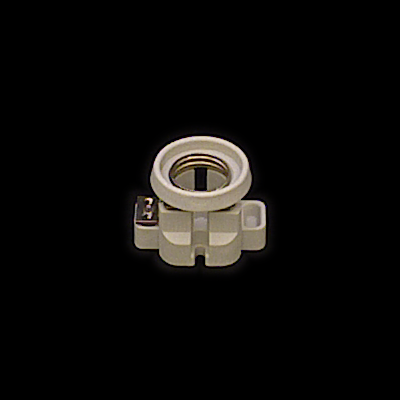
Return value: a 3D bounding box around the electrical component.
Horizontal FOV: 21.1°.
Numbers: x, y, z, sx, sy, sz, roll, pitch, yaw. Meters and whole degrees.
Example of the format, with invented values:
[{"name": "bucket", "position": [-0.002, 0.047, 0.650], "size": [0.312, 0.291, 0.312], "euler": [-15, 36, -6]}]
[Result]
[{"name": "electrical component", "position": [0.000, 0.000, 0.631], "size": [0.078, 0.057, 0.057], "euler": [1, 42, 0]}]
